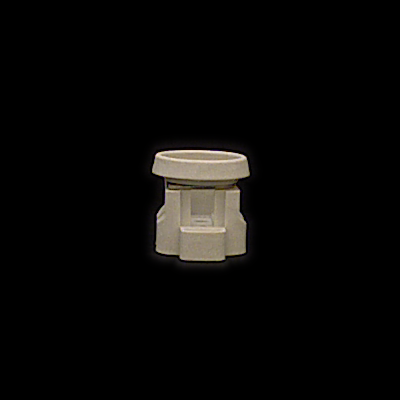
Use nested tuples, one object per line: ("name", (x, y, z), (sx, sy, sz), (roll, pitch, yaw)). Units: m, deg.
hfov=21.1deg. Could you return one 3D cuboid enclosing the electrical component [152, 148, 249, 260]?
("electrical component", (0.000, 0.000, 0.646), (0.058, 0.057, 0.078), (1, 11, -3))
